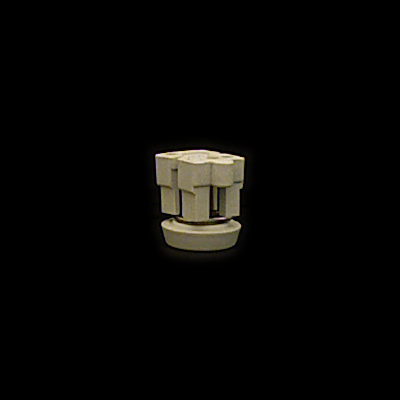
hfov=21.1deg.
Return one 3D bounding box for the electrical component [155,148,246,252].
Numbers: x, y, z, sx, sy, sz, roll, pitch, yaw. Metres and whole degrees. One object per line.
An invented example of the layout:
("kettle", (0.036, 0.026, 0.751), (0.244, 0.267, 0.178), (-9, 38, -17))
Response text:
("electrical component", (0.000, 0.000, 0.651), (0.049, 0.056, 0.065), (-8, 14, -33))
